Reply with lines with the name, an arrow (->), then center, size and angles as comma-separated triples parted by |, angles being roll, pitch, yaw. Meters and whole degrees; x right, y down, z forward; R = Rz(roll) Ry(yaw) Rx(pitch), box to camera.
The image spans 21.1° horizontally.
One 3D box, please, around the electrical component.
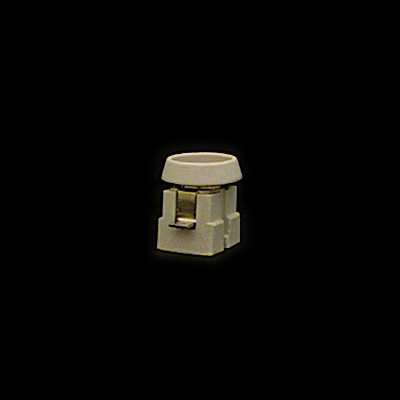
electrical component -> 0.000, 0.000, 0.650 | 0.048, 0.056, 0.066 | 4, 12, 23
